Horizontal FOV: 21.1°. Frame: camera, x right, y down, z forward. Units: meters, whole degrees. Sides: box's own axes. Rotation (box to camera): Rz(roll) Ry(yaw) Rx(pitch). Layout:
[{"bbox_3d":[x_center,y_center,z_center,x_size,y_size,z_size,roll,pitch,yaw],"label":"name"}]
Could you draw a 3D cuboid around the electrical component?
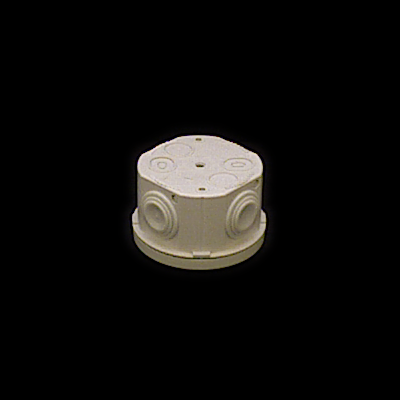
[{"bbox_3d":[0.000,0.000,0.636,0.080,0.051,0.079,1,32,0],"label":"electrical component"}]
